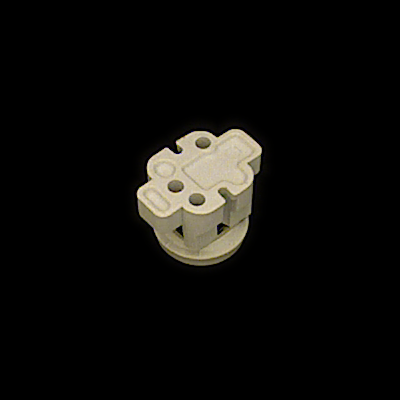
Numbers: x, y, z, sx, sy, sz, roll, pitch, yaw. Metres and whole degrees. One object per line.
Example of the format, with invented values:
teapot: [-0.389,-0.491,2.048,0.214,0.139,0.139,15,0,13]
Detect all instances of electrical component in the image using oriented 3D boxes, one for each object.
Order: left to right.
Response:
electrical component: [0.000,0.000,0.638,0.079,0.057,0.057,-35,60,-25]
